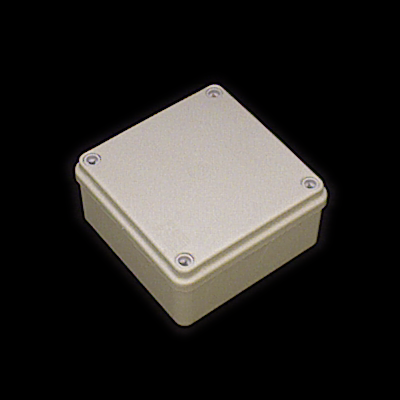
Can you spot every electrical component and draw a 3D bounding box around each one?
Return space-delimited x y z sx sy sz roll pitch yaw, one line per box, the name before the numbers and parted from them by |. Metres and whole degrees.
electrical component | 0.000 0.000 0.631 0.109 0.108 0.056 -31 -32 -23
